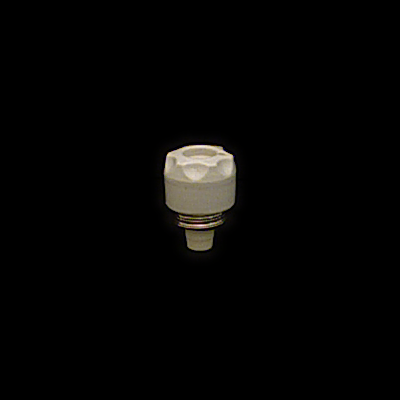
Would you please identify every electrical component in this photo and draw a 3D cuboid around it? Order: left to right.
[{"bbox_3d":[0.000,0.000,0.645,0.043,0.063,0.043,0,22,0],"label":"electrical component"}]
